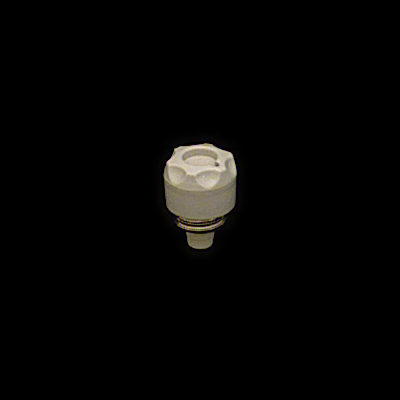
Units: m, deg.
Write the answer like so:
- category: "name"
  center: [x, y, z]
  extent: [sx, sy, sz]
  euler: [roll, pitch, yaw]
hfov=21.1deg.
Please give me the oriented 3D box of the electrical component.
- category: "electrical component"
  center: [0.000, 0.000, 0.641]
  extent: [0.043, 0.063, 0.043]
  euler: [0, 32, 0]
